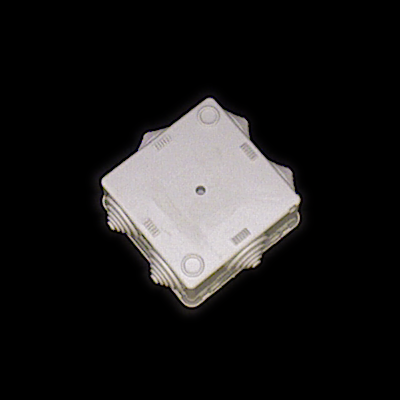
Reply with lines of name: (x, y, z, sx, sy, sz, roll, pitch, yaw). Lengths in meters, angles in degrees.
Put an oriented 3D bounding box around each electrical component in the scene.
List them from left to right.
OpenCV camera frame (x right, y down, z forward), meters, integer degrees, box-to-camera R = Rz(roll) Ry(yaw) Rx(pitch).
electrical component: (0.000, 0.000, 0.631, 0.100, 0.100, 0.048, -38, -13, -10)
